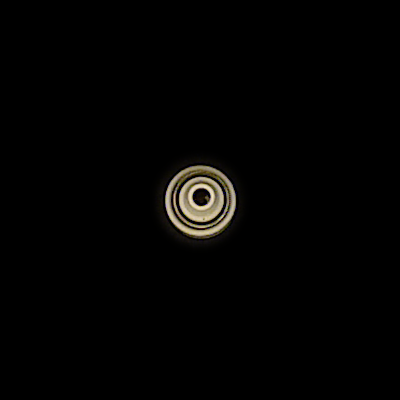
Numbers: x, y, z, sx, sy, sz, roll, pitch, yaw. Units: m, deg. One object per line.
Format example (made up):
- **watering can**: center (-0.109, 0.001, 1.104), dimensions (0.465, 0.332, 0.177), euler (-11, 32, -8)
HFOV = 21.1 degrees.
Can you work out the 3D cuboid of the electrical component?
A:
- **electrical component**: center (0.000, 0.000, 0.635), dimensions (0.043, 0.043, 0.062), euler (0, -5, 0)
